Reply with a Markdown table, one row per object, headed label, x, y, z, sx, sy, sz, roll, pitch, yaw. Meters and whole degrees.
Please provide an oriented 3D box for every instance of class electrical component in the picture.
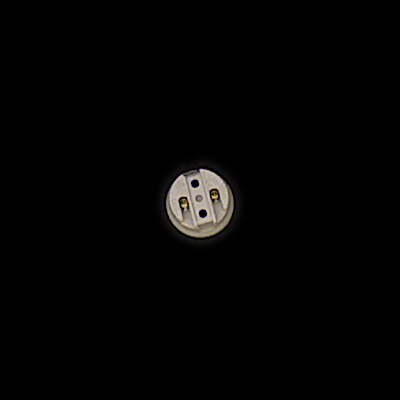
| label | x | y | z | sx | sy | sz | roll | pitch | yaw |
| --- | --- | --- | --- | --- | --- | --- | --- | --- | --- |
| electrical component | 0.000 | 0.000 | 0.634 | 0.040 | 0.040 | 0.046 | 0 | -6 | 1 |
